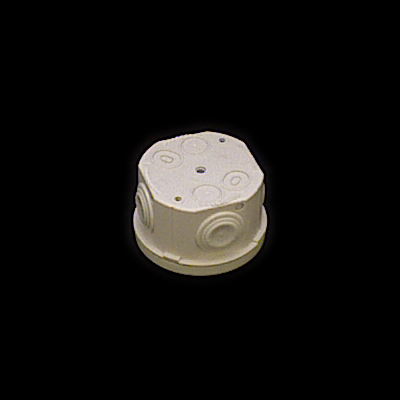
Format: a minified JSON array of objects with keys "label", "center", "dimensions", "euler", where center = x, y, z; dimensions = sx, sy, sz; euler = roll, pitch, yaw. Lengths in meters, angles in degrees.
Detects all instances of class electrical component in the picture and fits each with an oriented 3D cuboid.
[{"label":"electrical component","center":[0.000,0.000,0.635],"dimensions":[0.080,0.051,0.079],"euler":[1,42,0]}]
